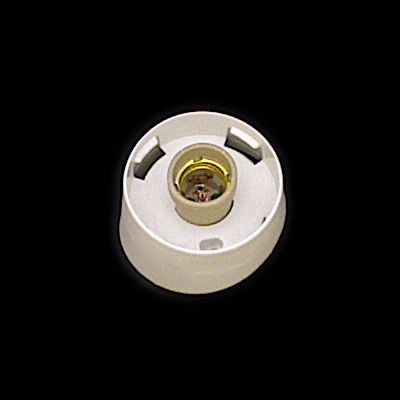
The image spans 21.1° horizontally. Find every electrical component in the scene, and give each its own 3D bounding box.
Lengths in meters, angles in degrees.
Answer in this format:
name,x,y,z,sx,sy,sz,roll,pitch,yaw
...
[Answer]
name,x,y,z,sx,sy,sz,roll,pitch,yaw
electrical component,0.000,0.000,0.625,0.099,0.099,0.064,0,-27,0
